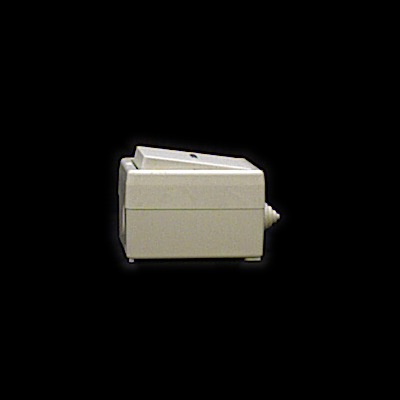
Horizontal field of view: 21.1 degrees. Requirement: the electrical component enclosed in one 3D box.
[{"bbox_3d":[0.000,0.000,0.644,0.096,0.061,0.061,0,11,-9],"label":"electrical component"}]
